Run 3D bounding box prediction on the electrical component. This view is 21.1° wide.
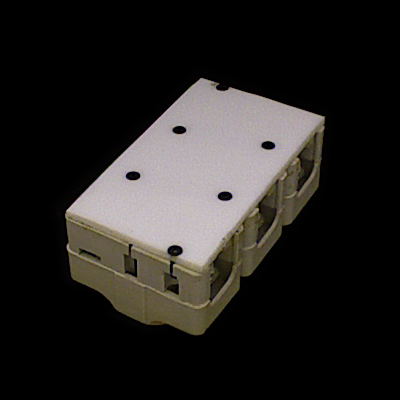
[{"bbox_3d":[0.000,0.000,0.634,0.089,0.063,0.148,22,46,22],"label":"electrical component"}]
